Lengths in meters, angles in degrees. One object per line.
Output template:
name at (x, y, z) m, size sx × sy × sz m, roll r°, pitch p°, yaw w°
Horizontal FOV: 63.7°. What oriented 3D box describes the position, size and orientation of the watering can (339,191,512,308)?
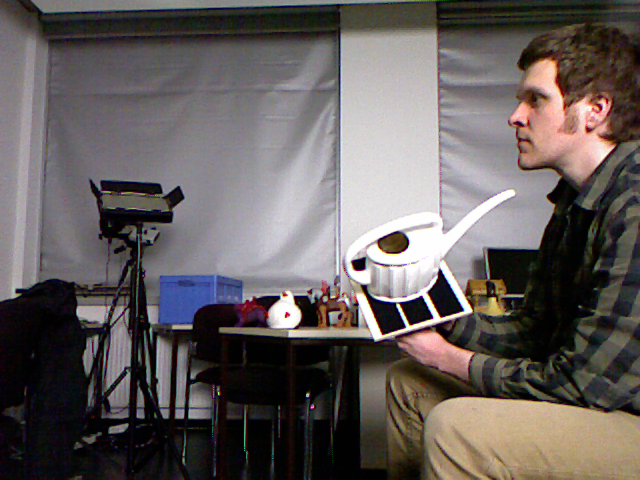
watering can at (0.205, 0.021, 1.007) m, size 0.349 × 0.106 × 0.219 m, roll -17°, pitch -39°, yaw -8°
